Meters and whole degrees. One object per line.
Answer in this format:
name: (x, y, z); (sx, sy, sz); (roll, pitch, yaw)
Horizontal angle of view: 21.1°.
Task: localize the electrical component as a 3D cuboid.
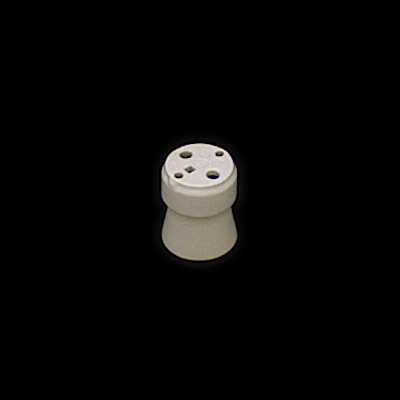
electrical component: (0.000, 0.000, 0.633); (0.045, 0.055, 0.044); (1, 42, 0)
